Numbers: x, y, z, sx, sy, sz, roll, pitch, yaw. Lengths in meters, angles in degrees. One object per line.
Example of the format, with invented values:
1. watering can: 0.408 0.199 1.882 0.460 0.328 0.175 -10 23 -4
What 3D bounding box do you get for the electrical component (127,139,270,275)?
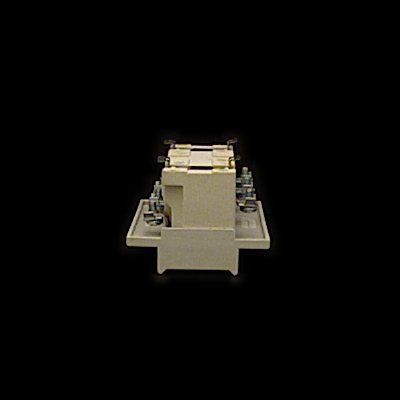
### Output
1. electrical component: 0.000 0.000 0.650 0.079 0.063 0.120 1 10 0
